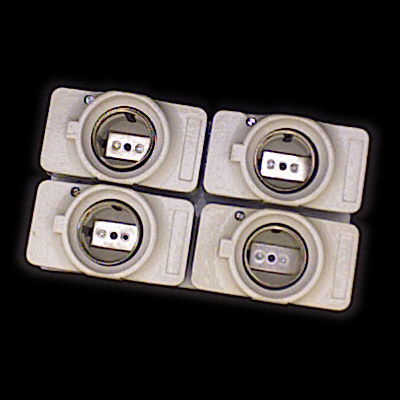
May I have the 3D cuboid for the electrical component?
[{"bbox_3d":[0.000,0.000,0.626,0.186,0.106,0.060,8,-7,1],"label":"electrical component"}]
